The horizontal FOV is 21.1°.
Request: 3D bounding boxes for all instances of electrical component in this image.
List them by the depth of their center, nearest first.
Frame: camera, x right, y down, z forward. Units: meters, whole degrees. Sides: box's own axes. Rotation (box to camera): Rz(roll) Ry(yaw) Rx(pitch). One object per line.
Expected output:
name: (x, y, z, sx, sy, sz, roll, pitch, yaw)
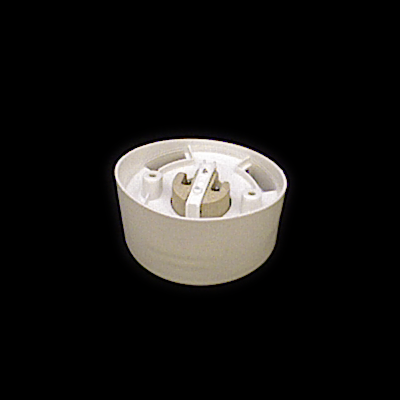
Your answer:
electrical component: (0.000, 0.000, 0.628, 0.099, 0.065, 0.098, 1, 43, 0)
